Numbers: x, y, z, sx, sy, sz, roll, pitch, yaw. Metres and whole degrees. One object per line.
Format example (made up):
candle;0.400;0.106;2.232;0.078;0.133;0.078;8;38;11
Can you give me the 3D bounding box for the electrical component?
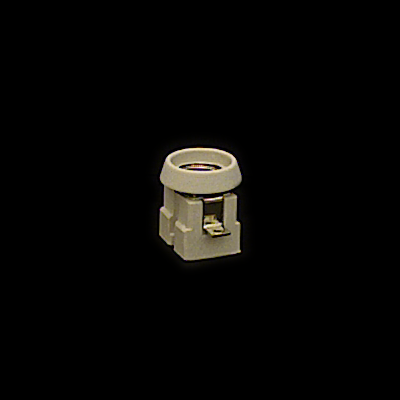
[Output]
electrical component;0.000;0.000;0.646;0.048;0.056;0.065;-11;25;-22
